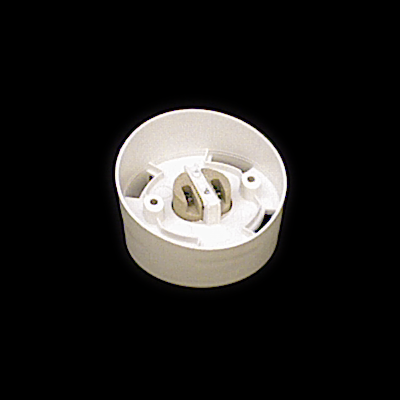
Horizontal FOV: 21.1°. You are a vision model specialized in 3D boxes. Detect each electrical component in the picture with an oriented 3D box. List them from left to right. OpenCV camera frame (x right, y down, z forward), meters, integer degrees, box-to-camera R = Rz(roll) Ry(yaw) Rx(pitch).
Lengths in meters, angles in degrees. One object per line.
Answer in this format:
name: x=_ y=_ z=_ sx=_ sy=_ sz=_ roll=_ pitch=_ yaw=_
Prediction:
electrical component: x=0.000 y=0.000 z=0.629 sx=0.099 sy=0.065 sz=0.098 roll=0 pitch=41 yaw=0
